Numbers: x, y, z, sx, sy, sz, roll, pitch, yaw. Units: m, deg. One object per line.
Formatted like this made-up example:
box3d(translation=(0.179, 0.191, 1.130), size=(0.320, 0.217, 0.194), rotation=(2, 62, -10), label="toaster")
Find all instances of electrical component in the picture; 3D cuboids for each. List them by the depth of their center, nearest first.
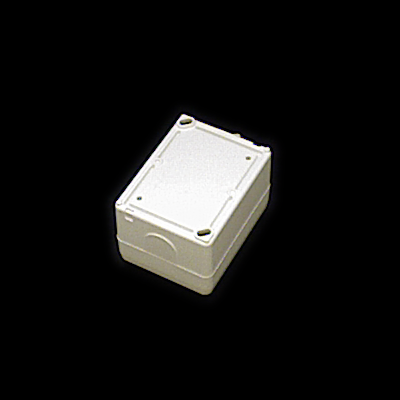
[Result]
box3d(translation=(0.000, 0.000, 0.633), size=(0.061, 0.096, 0.061), rotation=(23, -35, 17), label="electrical component")
